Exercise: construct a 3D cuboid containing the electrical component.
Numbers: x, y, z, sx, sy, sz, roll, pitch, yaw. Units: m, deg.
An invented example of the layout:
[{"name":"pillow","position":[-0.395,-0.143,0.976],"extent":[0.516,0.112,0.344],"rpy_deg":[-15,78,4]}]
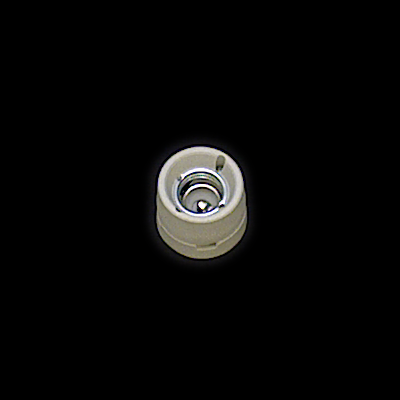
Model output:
[{"name":"electrical component","position":[0.000,0.000,0.632],"extent":[0.055,0.056,0.047],"rpy_deg":[0,-27,1]}]
